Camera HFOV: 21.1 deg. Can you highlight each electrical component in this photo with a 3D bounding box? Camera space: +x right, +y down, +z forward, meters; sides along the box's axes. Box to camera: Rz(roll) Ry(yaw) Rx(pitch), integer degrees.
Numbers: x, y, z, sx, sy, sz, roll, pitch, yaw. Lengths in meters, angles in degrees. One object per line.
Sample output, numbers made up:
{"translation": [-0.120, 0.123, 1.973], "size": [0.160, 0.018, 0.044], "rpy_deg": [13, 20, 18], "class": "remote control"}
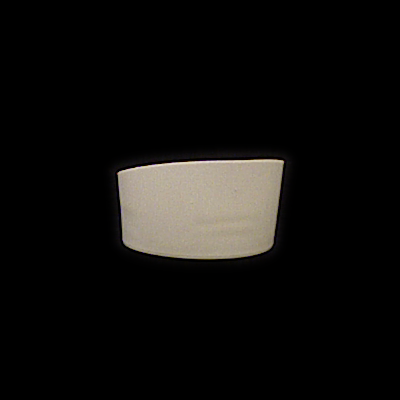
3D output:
{"translation": [0.000, 0.000, 0.643], "size": [0.099, 0.064, 0.098], "rpy_deg": [2, 11, 0], "class": "electrical component"}
